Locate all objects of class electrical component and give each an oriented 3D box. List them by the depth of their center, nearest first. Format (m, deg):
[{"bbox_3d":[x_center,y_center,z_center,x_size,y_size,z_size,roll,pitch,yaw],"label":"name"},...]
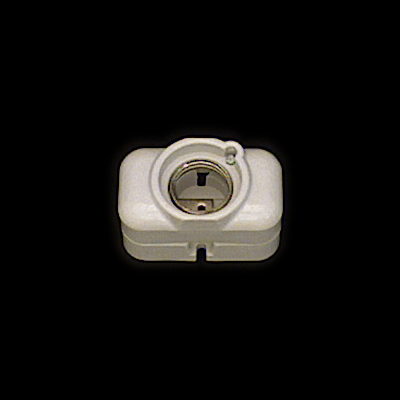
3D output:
[{"bbox_3d":[0.000,0.000,0.635,0.095,0.053,0.059,0,-26,0],"label":"electrical component"}]
